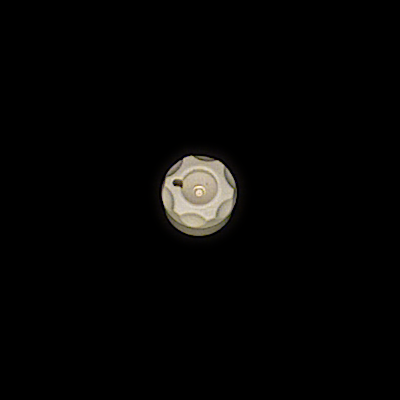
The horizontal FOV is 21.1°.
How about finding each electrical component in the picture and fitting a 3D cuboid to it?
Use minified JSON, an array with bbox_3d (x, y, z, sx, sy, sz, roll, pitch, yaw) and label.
[{"bbox_3d":[0.000,0.000,0.634,0.043,0.043,0.061,0,-16,-1],"label":"electrical component"}]
